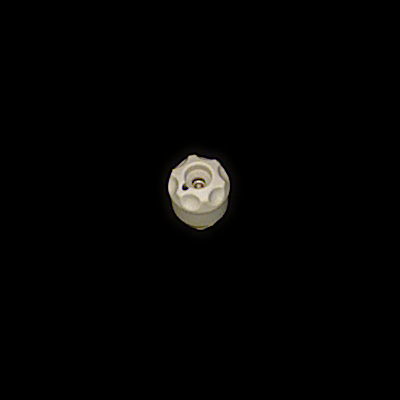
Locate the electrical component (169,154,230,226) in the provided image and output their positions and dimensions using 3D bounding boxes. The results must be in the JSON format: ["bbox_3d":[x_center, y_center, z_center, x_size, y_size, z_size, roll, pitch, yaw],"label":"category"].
[{"bbox_3d":[0.000,0.000,0.633,0.035,0.035,0.061,0,-27,1],"label":"electrical component"}]
